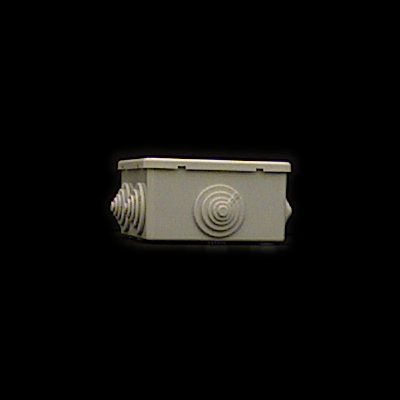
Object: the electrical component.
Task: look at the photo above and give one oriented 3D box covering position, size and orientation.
[{"bbox_3d":[0.000,0.000,0.656,0.100,0.048,0.099,1,1,-15],"label":"electrical component"}]
